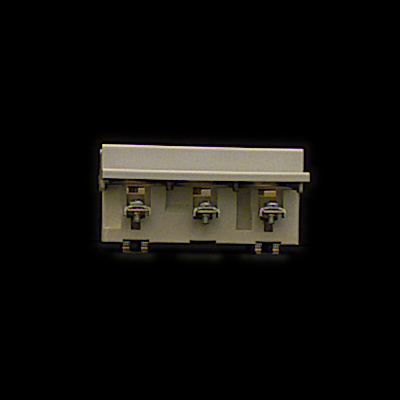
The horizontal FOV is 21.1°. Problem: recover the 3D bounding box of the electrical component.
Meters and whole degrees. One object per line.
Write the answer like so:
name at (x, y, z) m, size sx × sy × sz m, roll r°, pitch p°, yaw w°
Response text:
electrical component at (0.000, 0.000, 0.663) m, size 0.122 × 0.063 × 0.078 m, roll 1°, pitch -1°, yaw -7°
